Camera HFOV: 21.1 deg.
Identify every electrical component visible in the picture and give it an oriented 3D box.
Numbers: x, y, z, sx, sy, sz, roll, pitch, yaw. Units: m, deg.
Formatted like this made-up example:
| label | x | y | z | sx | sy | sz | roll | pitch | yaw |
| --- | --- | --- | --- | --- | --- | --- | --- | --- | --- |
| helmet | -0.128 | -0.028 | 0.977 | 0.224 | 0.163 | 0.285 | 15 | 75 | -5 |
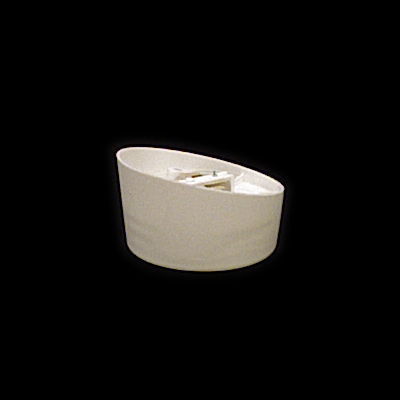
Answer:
| label | x | y | z | sx | sy | sz | roll | pitch | yaw |
| --- | --- | --- | --- | --- | --- | --- | --- | --- | --- |
| electrical component | 0.000 | 0.000 | 0.636 | 0.099 | 0.065 | 0.097 | 1 | 21 | 0 |
